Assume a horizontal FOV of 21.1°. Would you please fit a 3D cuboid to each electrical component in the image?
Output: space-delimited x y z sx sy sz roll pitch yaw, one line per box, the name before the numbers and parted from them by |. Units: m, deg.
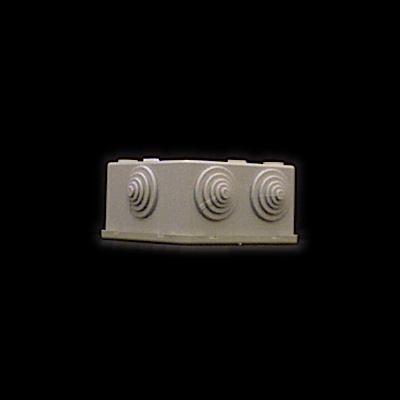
electrical component | 0.000 0.000 0.651 0.100 0.048 0.099 1 0 -37
